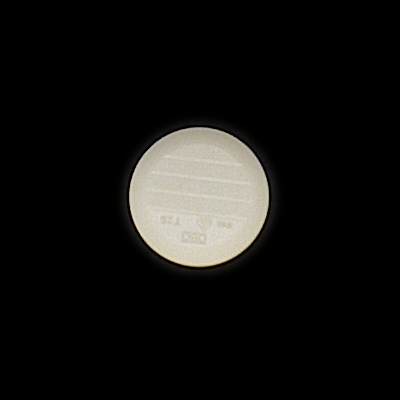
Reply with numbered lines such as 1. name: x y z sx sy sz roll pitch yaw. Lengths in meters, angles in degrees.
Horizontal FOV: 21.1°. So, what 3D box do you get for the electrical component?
1. electrical component: 0.000 0.000 0.631 0.080 0.080 0.050 0 -7 0
